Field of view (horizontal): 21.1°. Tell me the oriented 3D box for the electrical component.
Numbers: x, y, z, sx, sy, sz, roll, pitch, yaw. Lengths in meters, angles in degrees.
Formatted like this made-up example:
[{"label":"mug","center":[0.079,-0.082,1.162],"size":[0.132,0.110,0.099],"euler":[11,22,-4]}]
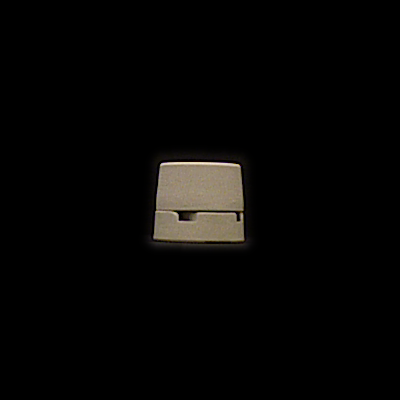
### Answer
[{"label":"electrical component","center":[0.000,0.000,0.651],"size":[0.055,0.047,0.055],"euler":[1,0,0]}]
